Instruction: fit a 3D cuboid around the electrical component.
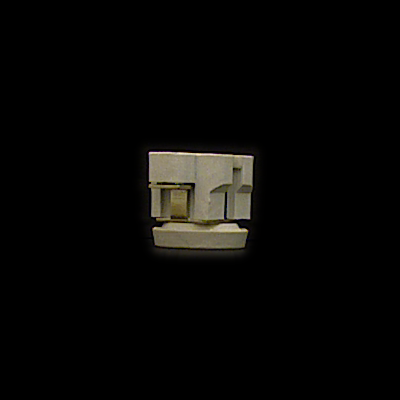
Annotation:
[{"bbox_3d":[0.000,0.000,0.655,0.057,0.057,0.079,3,3,35],"label":"electrical component"}]
